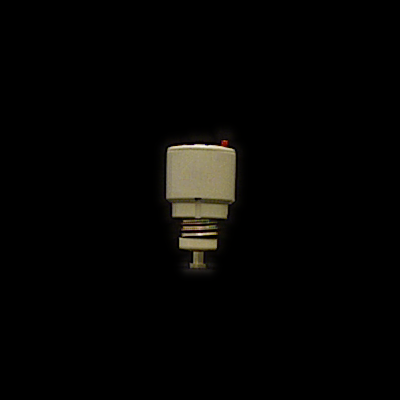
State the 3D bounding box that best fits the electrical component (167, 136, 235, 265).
[{"bbox_3d":[0.000,0.000,0.648,0.040,0.078,0.040,2,1,0],"label":"electrical component"}]
